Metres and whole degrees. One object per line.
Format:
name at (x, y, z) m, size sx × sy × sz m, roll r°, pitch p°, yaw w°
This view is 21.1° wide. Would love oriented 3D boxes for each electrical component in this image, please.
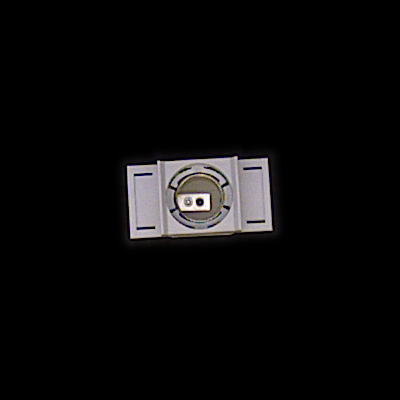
electrical component at (0.000, 0.000, 0.624) m, size 0.081 × 0.042 × 0.063 m, roll -3°, pitch -5°, yaw -1°
